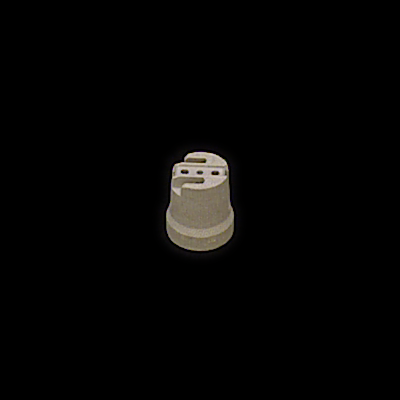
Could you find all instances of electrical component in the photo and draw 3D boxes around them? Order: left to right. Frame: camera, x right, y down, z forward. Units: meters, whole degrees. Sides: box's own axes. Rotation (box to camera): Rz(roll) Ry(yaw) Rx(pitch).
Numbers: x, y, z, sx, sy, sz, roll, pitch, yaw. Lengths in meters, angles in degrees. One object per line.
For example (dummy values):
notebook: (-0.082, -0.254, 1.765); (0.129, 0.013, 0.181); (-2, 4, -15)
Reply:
electrical component: (0.000, 0.000, 0.636); (0.040, 0.046, 0.040); (1, 42, 0)
